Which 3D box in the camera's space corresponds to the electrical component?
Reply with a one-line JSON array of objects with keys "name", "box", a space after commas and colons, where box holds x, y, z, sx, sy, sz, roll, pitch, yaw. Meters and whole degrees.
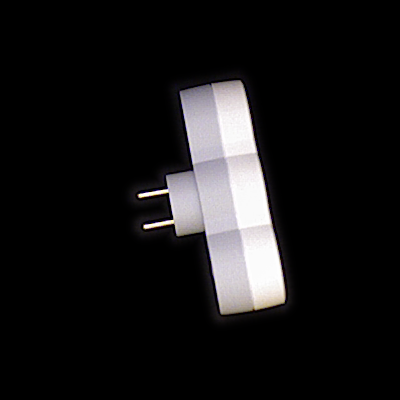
[{"name": "electrical component", "box": [0.000, 0.000, 0.629, 0.074, 0.139, 0.052, -10, -16, -1]}]
